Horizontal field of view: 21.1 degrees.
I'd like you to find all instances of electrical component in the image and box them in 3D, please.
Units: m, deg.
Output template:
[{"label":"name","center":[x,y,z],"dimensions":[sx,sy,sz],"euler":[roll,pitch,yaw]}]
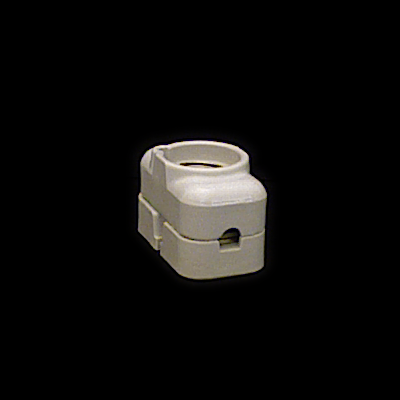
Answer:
[{"label":"electrical component","center":[0.000,0.000,0.645],"dimensions":[0.054,0.060,0.093],"euler":[-8,23,-22]}]
